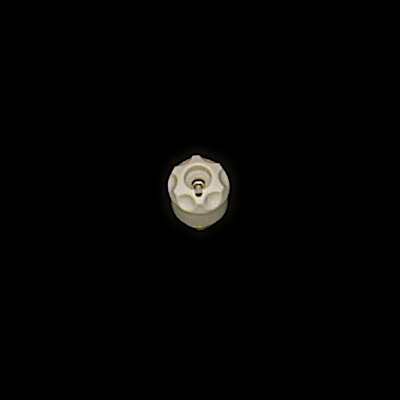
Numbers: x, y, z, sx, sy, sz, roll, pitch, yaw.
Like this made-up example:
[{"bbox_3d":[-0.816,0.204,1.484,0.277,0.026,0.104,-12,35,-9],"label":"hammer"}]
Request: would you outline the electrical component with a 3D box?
[{"bbox_3d":[0.000,0.000,0.633,0.035,0.035,0.061,0,-26,0],"label":"electrical component"}]
